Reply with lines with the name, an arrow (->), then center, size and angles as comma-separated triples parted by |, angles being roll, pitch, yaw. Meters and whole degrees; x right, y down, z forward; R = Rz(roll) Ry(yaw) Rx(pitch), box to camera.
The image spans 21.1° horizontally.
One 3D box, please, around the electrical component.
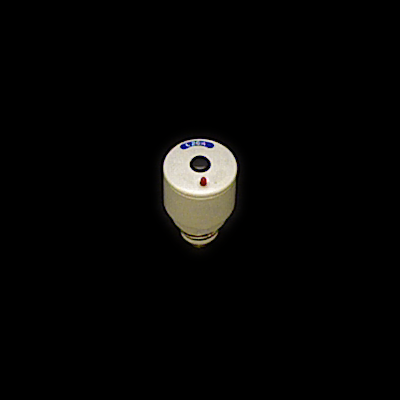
electrical component -> 0.000, 0.000, 0.619 | 0.040, 0.040, 0.078 | 0, -37, -1
